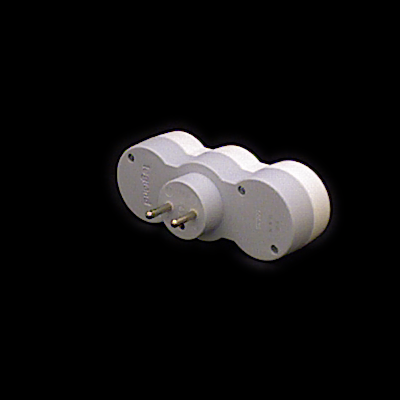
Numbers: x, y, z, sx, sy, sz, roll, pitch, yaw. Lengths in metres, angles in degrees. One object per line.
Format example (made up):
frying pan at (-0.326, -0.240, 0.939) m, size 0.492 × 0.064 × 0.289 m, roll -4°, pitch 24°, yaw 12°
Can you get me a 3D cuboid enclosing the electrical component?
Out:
electrical component at (0.000, 0.000, 0.639) m, size 0.137 × 0.053 × 0.073 m, roll 18°, pitch 29°, yaw 35°
